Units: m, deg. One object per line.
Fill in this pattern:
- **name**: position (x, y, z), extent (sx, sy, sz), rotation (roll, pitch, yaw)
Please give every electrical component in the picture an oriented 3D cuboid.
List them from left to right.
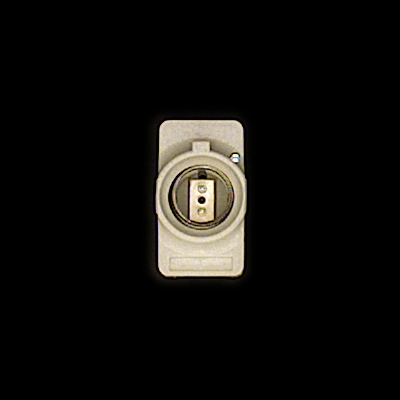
- **electrical component**: position (0.000, 0.000, 0.637), extent (0.050, 0.090, 0.055), rotation (0, -6, 1)
